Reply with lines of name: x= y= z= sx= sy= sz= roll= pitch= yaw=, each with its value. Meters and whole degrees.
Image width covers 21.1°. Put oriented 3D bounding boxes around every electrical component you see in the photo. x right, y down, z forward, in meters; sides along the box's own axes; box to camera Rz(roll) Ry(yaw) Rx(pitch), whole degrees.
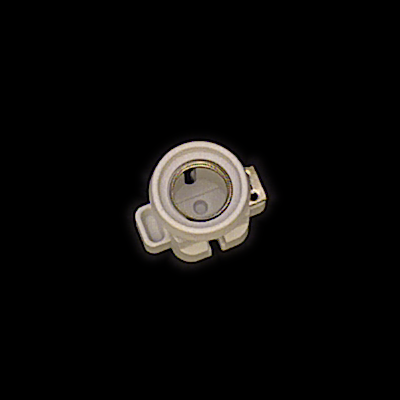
electrical component: x=0.000 y=0.000 z=0.629 sx=0.078 sy=0.058 sz=0.056 roll=-21 pitch=-16 yaw=-6
